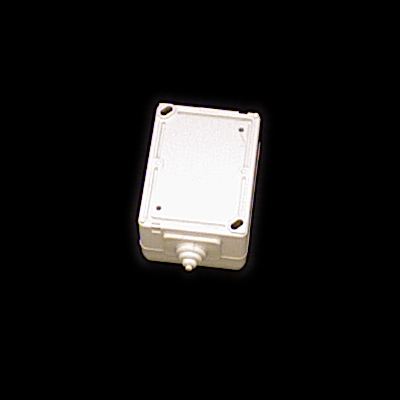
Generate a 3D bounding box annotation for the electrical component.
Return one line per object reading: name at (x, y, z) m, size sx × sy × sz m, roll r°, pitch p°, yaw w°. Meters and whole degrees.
electrical component at (0.000, 0.000, 0.627) m, size 0.062 × 0.096 × 0.060 m, roll 6°, pitch -26°, yaw 3°
